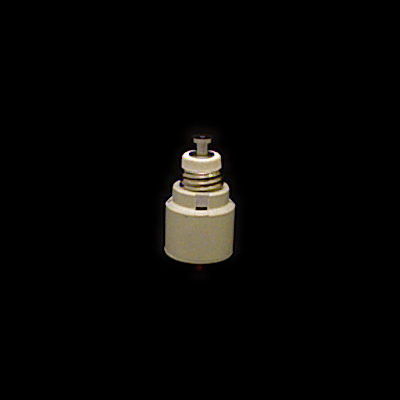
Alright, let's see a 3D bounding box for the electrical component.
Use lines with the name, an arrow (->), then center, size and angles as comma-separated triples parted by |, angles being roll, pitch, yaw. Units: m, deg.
electrical component -> 0.000, 0.000, 0.635 | 0.040, 0.079, 0.039 | 2, 21, 0
